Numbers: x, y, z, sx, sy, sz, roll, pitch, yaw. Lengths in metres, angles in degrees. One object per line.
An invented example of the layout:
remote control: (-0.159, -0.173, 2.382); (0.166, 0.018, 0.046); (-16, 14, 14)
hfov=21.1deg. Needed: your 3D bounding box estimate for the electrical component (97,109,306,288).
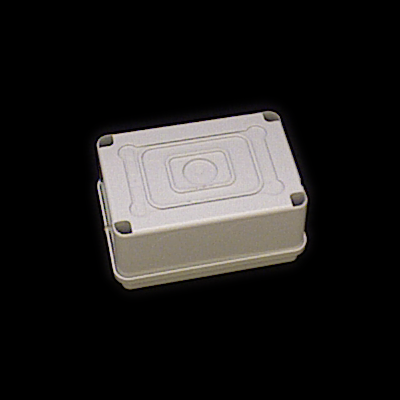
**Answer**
electrical component: (0.000, 0.000, 0.629); (0.113, 0.078, 0.057); (-9, -37, -7)
